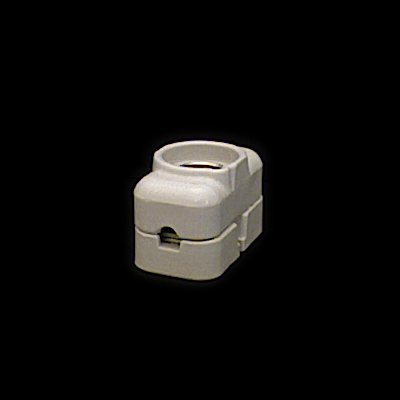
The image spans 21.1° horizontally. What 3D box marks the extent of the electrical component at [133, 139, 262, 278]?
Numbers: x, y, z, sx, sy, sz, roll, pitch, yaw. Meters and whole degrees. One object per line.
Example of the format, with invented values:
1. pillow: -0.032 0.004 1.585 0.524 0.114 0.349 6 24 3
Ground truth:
1. electrical component: 0.000 0.000 0.645 0.053 0.060 0.094 9 23 20
